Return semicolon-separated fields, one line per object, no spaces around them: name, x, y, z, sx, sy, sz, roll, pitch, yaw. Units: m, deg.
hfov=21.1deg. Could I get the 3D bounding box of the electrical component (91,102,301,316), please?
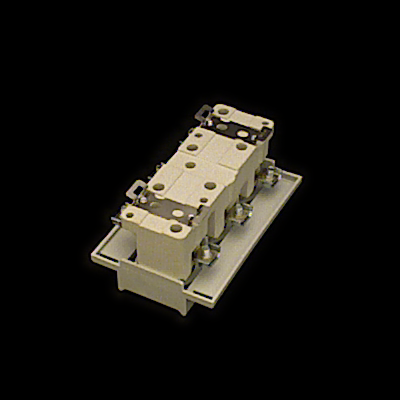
electrical component;0.000;0.000;0.637;0.078;0.063;0.121;20;46;19
